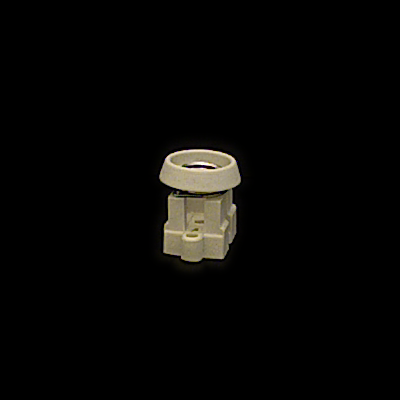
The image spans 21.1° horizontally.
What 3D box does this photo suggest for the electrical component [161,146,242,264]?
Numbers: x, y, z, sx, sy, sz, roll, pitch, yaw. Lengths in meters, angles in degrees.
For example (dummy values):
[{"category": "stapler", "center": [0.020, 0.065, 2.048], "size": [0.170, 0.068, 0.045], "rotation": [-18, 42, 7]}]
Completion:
[{"category": "electrical component", "center": [0.000, 0.000, 0.648], "size": [0.048, 0.056, 0.066], "rotation": [7, 23, 9]}]
